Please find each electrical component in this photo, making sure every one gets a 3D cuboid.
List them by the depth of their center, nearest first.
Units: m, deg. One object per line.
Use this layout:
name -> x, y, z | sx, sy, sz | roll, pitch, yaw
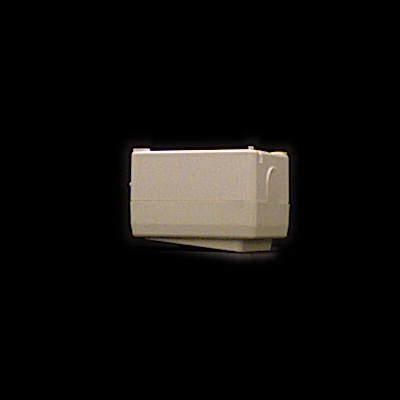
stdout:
electrical component -> 0.000, 0.000, 0.653 | 0.096, 0.061, 0.062 | 1, 0, 24
